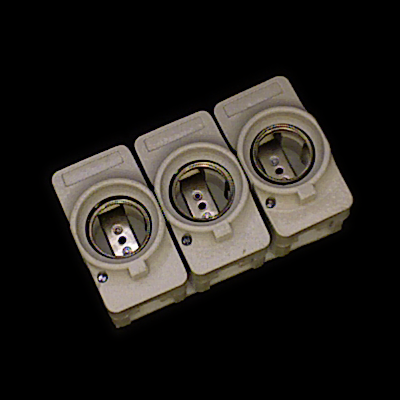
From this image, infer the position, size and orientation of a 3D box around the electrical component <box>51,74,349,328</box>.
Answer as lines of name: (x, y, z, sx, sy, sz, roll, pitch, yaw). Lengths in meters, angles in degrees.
electrical component: (0.000, 0.000, 0.631, 0.150, 0.089, 0.062, -24, -15, -6)
